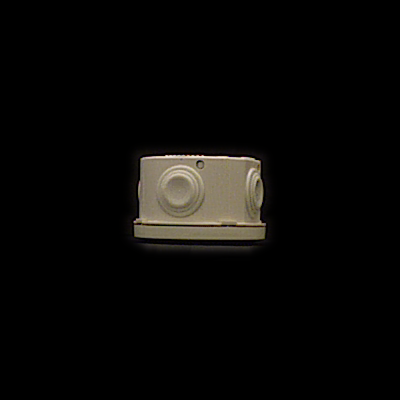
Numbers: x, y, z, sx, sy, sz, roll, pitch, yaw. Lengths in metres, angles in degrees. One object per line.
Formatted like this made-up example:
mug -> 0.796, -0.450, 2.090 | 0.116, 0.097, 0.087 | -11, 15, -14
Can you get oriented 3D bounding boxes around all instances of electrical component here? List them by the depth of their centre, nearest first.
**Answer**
electrical component -> 0.000, 0.000, 0.651 | 0.080, 0.051, 0.080 | 1, 0, 0
